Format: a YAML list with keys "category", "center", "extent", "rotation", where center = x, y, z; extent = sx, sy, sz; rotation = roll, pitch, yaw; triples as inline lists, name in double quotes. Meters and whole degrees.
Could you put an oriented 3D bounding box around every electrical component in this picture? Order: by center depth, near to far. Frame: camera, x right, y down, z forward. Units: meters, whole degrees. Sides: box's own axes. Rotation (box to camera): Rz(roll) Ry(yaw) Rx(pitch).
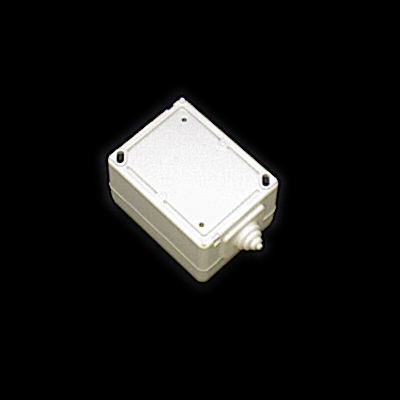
- category: "electrical component"
  center: [0.000, 0.000, 0.624]
  extent: [0.062, 0.096, 0.060]
  rotation: [-41, -21, -19]
